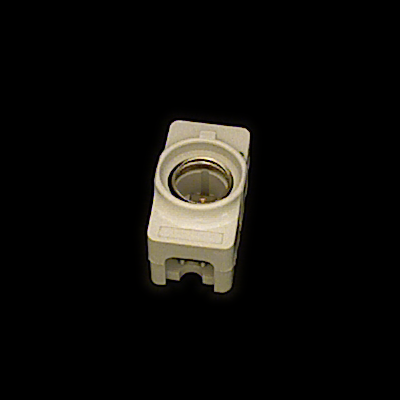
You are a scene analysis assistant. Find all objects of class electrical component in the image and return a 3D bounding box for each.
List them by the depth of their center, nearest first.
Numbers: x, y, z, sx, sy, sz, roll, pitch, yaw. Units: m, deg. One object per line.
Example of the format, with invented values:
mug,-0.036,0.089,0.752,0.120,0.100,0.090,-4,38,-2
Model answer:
electrical component,0.000,0.000,0.637,0.050,0.089,0.056,6,-37,4
